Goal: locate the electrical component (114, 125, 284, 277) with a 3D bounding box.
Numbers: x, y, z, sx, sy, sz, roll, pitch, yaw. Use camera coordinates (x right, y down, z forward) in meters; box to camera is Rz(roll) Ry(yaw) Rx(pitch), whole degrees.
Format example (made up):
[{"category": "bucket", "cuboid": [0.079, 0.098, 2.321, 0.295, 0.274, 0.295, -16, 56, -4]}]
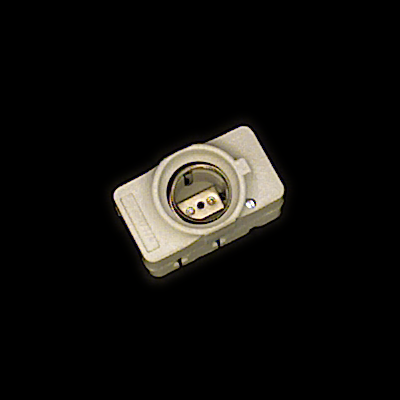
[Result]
[{"category": "electrical component", "cuboid": [0.000, 0.000, 0.636, 0.090, 0.050, 0.055, -27, -14, -8]}]
